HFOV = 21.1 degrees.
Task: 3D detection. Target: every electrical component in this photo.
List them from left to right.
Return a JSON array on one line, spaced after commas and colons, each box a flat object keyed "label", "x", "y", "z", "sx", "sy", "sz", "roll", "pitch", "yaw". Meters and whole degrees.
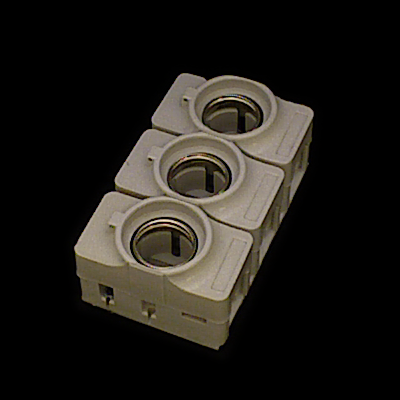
[{"label": "electrical component", "x": 0.000, "y": 0.000, "z": 0.633, "sx": 0.089, "sy": 0.148, "sz": 0.062, "roll": 18, "pitch": -36, "yaw": 14}]
